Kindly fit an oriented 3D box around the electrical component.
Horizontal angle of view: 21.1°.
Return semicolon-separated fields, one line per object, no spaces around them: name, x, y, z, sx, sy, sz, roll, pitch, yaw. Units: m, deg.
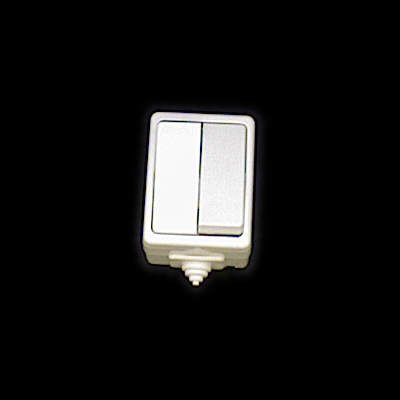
electrical component;0.000;0.000;0.625;0.062;0.097;0.060;3;-17;1
